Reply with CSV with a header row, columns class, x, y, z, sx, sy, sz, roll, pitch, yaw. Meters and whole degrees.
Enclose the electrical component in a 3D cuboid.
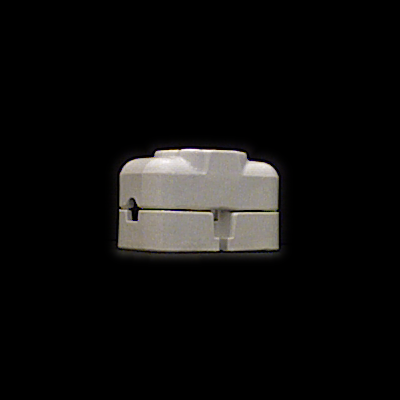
class,x,y,z,sx,sy,sz,roll,pitch,yaw
electrical component,0.000,0.000,0.655,0.096,0.059,0.053,0,1,-34
